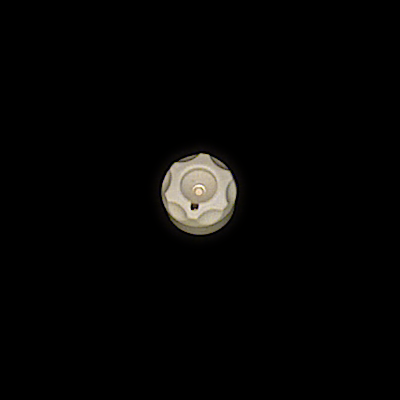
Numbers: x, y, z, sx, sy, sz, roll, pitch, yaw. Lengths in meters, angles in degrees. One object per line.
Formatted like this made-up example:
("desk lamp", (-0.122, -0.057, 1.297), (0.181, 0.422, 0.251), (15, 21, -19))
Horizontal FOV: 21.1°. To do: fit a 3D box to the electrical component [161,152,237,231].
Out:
("electrical component", (0.000, 0.000, 0.634), (0.043, 0.043, 0.061), (0, -17, 1))
